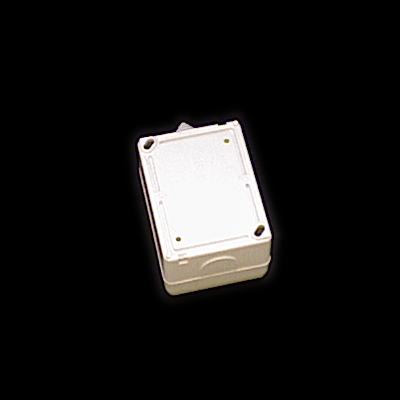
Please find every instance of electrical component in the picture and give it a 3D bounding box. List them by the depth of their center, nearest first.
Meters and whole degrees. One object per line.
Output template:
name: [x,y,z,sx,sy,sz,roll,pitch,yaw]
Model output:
electrical component: [0.000,0.000,0.629,0.062,0.096,0.061,-11,-27,-6]
